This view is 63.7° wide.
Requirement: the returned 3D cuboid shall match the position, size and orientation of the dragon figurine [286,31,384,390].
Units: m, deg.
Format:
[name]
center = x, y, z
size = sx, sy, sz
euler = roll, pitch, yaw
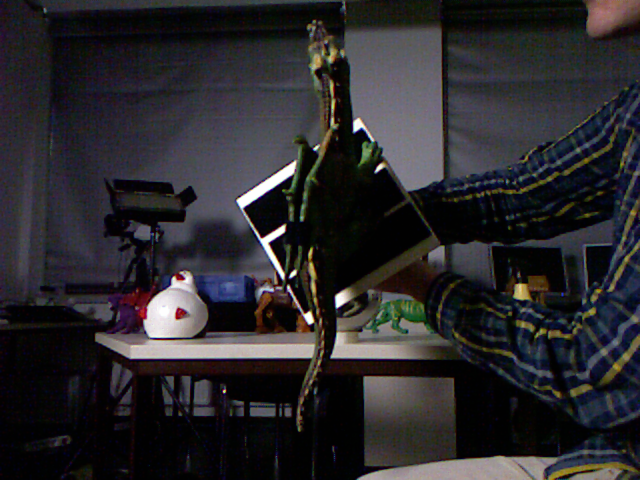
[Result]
[dragon figurine]
center = -0.001, -0.016, 0.563
size = 0.123, 0.413, 0.243
euler = 2, -3, 11
